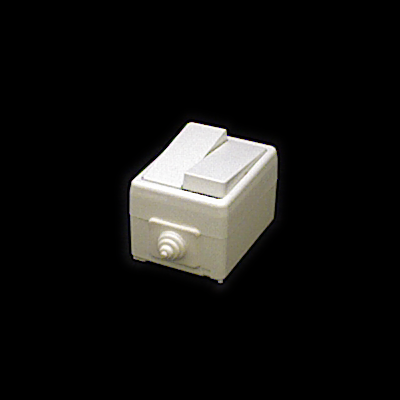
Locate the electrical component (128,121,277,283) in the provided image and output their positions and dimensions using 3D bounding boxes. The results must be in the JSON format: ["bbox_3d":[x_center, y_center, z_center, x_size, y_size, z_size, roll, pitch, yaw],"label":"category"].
[{"bbox_3d":[0.000,0.000,0.632,0.061,0.061,0.095,15,34,22],"label":"electrical component"}]
